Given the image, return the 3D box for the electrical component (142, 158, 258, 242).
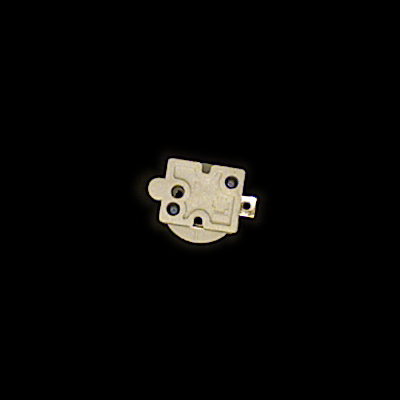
[{"bbox_3d":[0.000,0.000,0.639,0.066,0.048,0.055,9,-6,1],"label":"electrical component"}]
